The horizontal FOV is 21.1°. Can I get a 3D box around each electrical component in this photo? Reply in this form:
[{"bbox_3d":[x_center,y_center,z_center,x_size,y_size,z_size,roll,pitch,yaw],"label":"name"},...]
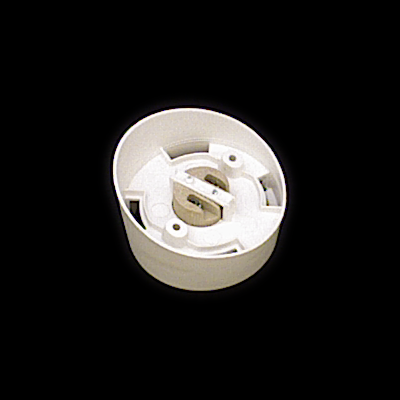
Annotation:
[{"bbox_3d":[0.000,0.000,0.626,0.099,0.098,0.064,0,-38,1],"label":"electrical component"}]
